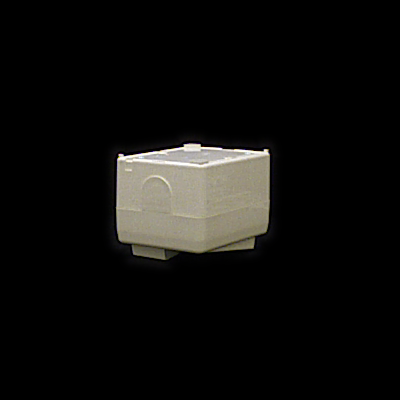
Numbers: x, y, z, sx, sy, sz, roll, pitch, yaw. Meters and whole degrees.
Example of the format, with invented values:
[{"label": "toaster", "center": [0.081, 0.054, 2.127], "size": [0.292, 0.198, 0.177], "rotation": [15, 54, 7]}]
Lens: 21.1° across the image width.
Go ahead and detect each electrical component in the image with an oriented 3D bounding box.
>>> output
[{"label": "electrical component", "center": [0.000, 0.000, 0.652], "size": [0.061, 0.061, 0.096], "rotation": [7, 12, 32]}]
